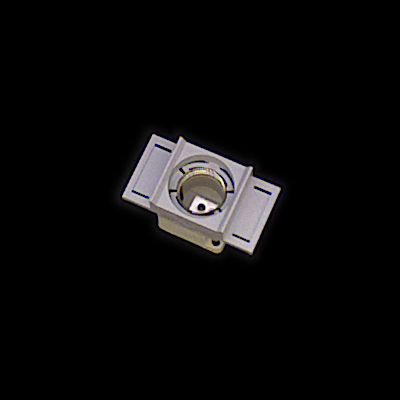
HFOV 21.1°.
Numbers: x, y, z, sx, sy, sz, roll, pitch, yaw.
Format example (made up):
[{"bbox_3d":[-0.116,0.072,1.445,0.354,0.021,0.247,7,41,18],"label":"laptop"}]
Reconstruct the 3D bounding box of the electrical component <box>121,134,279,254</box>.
[{"bbox_3d":[0.000,0.000,0.624,0.081,0.042,0.063,24,-16,8],"label":"electrical component"}]
